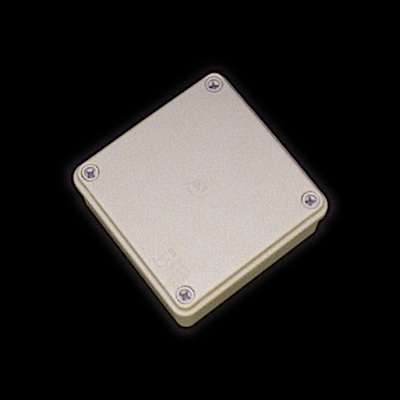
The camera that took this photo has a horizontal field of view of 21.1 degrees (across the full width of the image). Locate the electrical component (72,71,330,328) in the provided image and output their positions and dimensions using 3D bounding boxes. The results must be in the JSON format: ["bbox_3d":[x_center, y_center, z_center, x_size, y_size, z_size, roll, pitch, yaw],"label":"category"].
[{"bbox_3d":[0.000,0.000,0.630,0.109,0.109,0.056,-36,-13,-11],"label":"electrical component"}]
